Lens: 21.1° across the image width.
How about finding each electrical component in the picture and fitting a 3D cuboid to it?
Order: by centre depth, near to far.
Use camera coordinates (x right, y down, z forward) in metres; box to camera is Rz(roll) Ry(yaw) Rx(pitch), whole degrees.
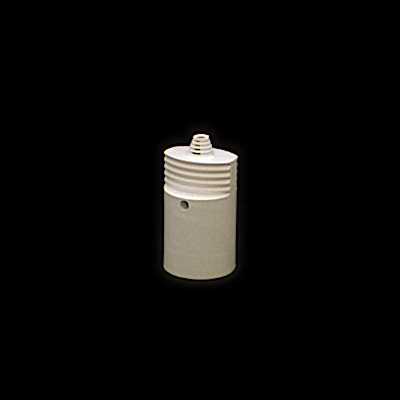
[{"bbox_3d":[0.000,0.000,0.635,0.043,0.082,0.042,1,21,0],"label":"electrical component"}]
